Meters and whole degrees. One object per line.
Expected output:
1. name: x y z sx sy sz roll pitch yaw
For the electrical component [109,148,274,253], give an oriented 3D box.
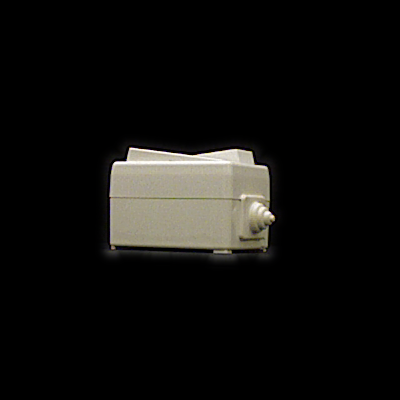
1. electrical component: 0.000 0.000 0.649 0.096 0.061 0.062 1 0 27
